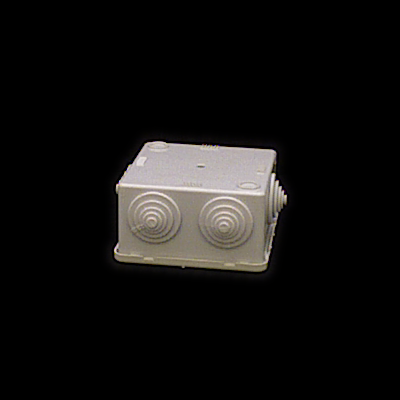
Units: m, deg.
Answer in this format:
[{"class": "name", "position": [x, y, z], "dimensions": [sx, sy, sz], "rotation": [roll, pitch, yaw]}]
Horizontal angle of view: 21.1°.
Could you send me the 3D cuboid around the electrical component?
[{"class": "electrical component", "position": [0.000, 0.000, 0.641], "dimensions": [0.099, 0.049, 0.098], "rotation": [4, 21, 7]}]
